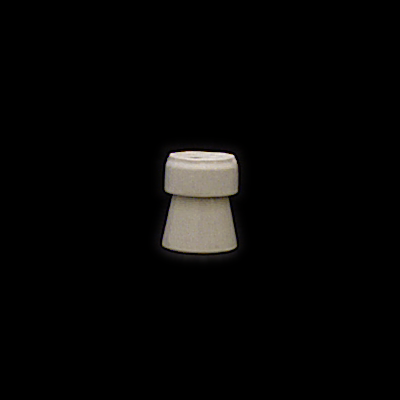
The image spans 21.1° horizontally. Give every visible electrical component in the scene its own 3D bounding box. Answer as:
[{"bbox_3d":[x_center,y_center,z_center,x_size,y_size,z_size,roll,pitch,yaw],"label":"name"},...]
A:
[{"bbox_3d":[0.000,0.000,0.646,0.045,0.055,0.044,2,11,0],"label":"electrical component"}]
